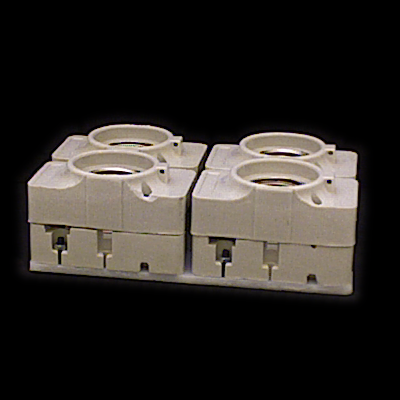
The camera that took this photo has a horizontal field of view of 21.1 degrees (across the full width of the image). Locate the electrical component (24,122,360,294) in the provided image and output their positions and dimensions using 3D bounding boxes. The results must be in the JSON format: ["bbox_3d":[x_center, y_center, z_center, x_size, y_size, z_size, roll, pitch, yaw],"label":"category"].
[{"bbox_3d":[0.000,0.000,0.640,0.186,0.061,0.104,4,21,7],"label":"electrical component"}]
